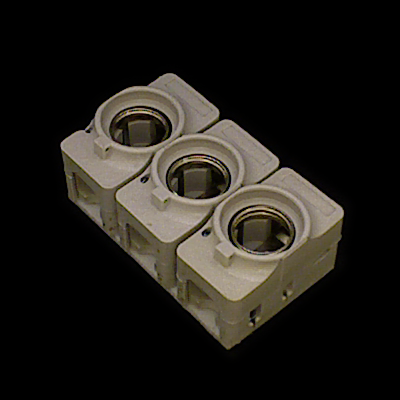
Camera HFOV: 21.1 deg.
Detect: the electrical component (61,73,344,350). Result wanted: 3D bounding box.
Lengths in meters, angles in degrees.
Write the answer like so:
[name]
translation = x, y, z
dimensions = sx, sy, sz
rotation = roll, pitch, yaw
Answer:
[electrical component]
translation = 0.000, 0.000, 0.632
dimensions = 0.089, 0.062, 0.149
rotation = -36, 60, -24
